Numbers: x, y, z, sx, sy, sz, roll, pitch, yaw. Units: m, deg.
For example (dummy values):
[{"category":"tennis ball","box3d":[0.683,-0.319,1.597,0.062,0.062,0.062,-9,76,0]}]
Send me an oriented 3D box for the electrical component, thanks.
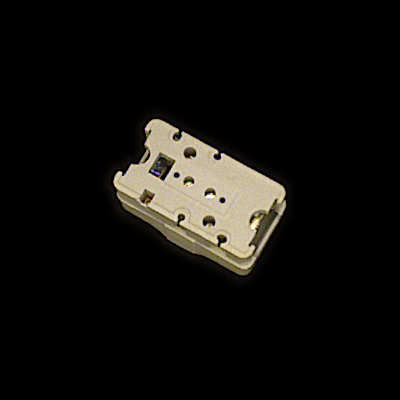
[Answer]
[{"category":"electrical component","box3d":[0.000,0.000,0.636,0.089,0.050,0.055,29,-13,9]}]
